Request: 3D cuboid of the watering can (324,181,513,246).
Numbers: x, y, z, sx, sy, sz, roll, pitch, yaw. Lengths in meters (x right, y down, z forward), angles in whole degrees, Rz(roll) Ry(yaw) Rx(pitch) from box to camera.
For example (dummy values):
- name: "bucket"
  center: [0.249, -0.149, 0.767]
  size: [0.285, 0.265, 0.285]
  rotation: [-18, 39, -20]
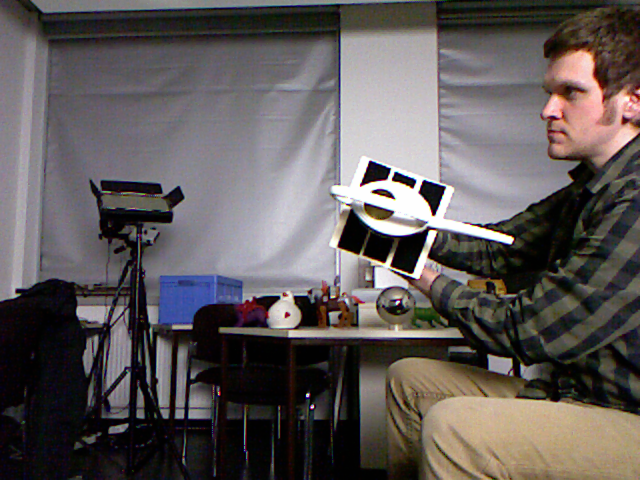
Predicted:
- name: "watering can"
  center: [0.175, -0.044, 1.003]
  size: [0.350, 0.105, 0.225]
  rotation: [18, 0, 4]
